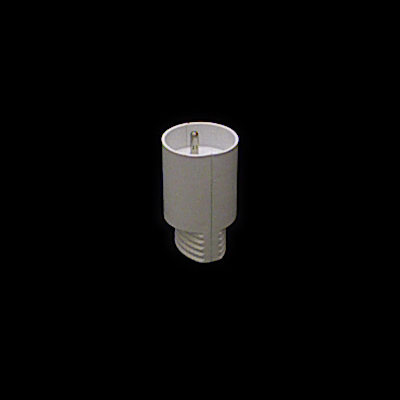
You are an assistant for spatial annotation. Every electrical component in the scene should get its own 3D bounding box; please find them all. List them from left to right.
[{"bbox_3d":[0.000,0.000,0.628,0.043,0.082,0.042,1,31,0],"label":"electrical component"}]
